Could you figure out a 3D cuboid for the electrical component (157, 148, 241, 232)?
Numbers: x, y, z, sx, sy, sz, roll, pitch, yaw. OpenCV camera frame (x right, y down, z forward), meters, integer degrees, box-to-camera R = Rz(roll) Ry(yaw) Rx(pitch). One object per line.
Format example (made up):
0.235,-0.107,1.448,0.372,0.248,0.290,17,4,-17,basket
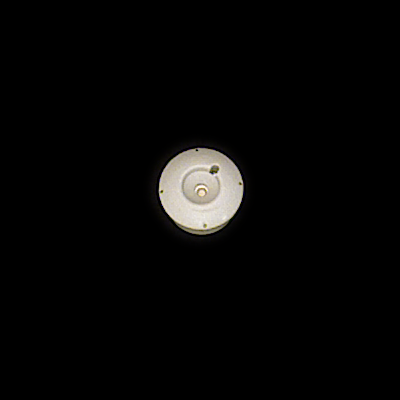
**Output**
0.000,0.000,0.634,0.048,0.048,0.061,0,-16,1,electrical component
